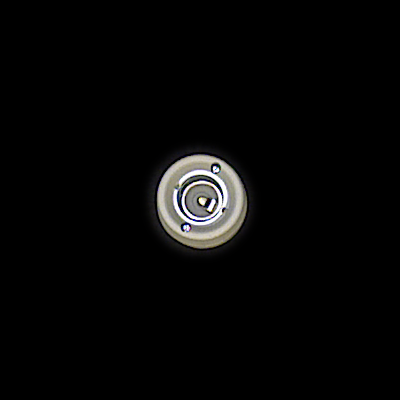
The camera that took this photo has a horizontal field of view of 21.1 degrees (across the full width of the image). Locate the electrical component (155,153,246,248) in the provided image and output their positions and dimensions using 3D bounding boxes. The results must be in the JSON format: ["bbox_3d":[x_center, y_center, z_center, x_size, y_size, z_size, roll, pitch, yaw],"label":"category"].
[{"bbox_3d":[0.000,0.000,0.633,0.055,0.055,0.047,0,-6,1],"label":"electrical component"}]
